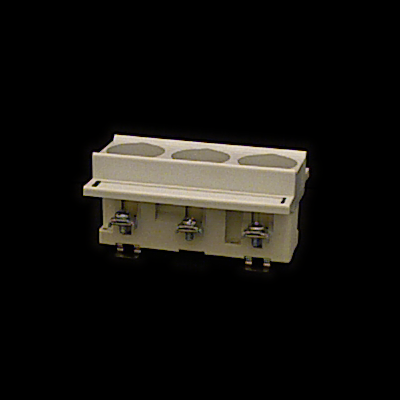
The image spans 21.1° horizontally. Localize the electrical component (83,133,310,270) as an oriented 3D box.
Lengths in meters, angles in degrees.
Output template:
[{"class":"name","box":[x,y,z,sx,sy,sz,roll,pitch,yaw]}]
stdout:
[{"class":"electrical component","box":[0.000,0.000,0.653,0.121,0.064,0.078,6,20,12]}]
